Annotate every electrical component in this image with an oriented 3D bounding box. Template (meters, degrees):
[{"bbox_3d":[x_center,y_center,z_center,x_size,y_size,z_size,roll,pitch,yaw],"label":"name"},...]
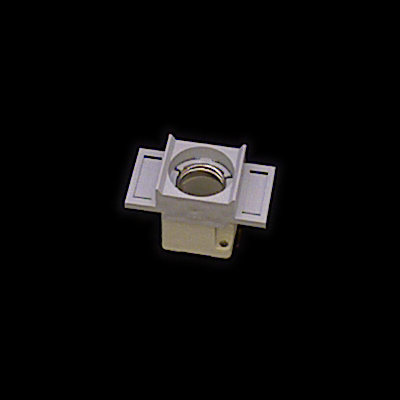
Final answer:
[{"bbox_3d":[0.000,0.000,0.626,0.081,0.042,0.064,8,-36,6],"label":"electrical component"}]
